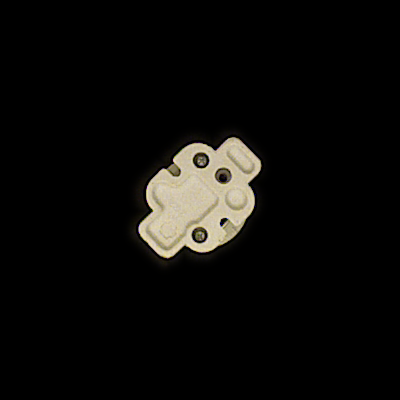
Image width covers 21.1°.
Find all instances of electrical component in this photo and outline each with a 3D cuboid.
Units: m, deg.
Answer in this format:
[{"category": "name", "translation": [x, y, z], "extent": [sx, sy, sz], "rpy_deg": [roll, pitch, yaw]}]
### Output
[{"category": "electrical component", "translation": [0.000, 0.000, 0.636], "extent": [0.058, 0.078, 0.056], "rpy_deg": [45, -2, 4]}]
